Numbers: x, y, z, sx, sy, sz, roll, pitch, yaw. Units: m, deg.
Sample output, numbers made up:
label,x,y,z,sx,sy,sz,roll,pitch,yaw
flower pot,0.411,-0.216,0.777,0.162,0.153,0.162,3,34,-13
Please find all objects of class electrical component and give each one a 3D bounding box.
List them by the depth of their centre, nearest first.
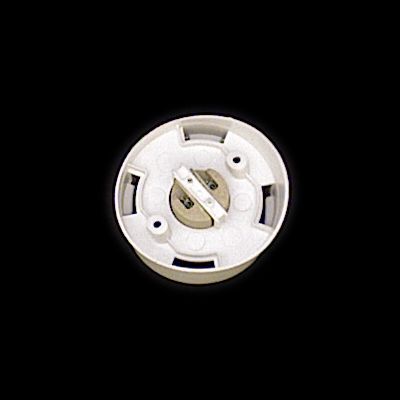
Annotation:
label,x,y,z,sx,sy,sz,roll,pitch,yaw
electrical component,0.000,0.000,0.623,0.099,0.099,0.064,0,-17,-1
